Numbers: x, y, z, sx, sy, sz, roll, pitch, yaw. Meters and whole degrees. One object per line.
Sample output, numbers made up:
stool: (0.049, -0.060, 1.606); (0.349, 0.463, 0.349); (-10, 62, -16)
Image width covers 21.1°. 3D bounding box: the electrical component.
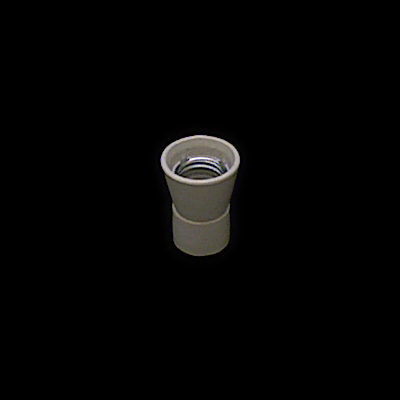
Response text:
electrical component: (0.000, 0.000, 0.630); (0.044, 0.066, 0.044); (0, 41, 0)
